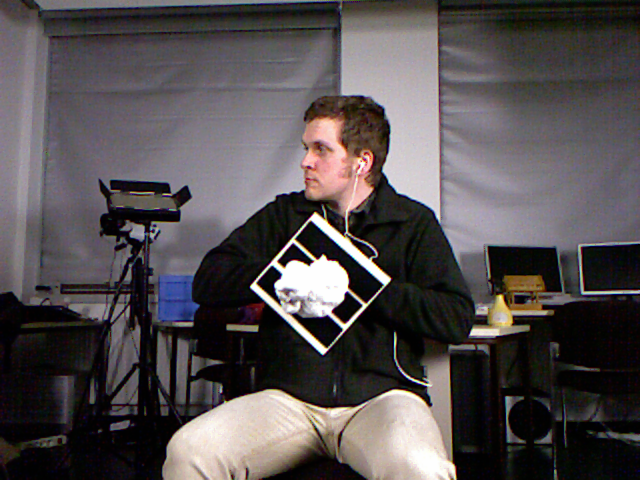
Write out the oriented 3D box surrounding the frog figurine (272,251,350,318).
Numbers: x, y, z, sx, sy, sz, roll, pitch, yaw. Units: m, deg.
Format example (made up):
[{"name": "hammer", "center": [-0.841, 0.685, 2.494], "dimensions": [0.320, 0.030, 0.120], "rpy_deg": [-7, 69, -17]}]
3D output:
[{"name": "frog figurine", "center": [-0.015, 0.088, 0.954], "dimensions": [0.137, 0.123, 0.160], "rpy_deg": [-26, -4, 9]}]
